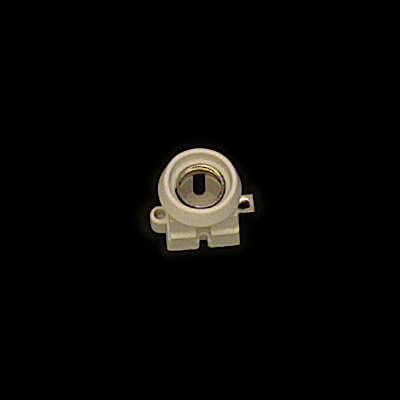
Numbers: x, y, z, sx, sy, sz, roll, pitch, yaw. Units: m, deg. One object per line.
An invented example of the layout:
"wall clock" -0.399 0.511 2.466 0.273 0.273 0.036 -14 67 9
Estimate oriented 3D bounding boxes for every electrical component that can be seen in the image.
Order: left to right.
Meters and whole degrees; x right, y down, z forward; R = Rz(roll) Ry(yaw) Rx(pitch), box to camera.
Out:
"electrical component" 0.000 0.000 0.638 0.066 0.048 0.055 -6 -25 -3
